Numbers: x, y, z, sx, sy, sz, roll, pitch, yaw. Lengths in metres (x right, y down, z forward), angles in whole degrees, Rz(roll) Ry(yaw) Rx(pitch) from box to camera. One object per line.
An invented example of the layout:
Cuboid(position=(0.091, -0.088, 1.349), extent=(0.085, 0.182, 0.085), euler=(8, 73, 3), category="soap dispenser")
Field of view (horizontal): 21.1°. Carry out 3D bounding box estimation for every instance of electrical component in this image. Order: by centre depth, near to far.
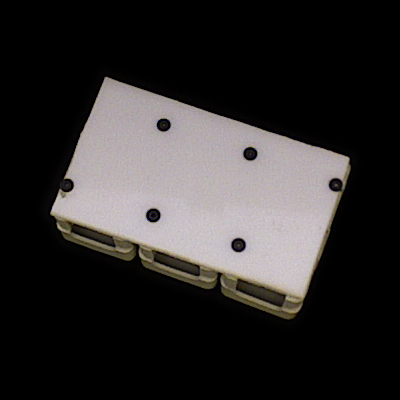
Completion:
Cuboid(position=(0.000, 0.000, 0.631), extent=(0.150, 0.089, 0.062), euler=(19, -16, 5), category="electrical component")
